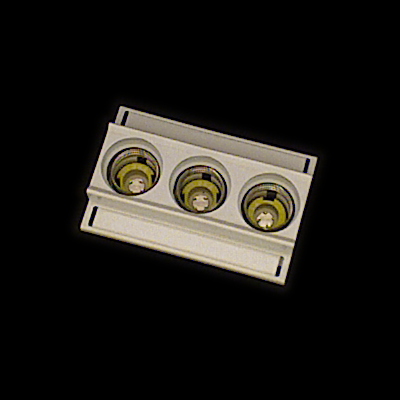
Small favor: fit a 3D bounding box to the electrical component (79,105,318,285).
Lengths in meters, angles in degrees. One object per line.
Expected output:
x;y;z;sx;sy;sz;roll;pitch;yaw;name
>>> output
0.000;0.000;0.638;0.121;0.079;0.063;15;-17;5;electrical component
